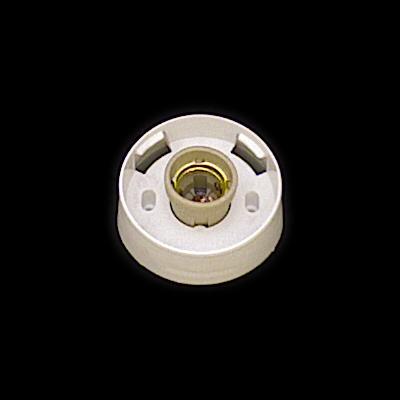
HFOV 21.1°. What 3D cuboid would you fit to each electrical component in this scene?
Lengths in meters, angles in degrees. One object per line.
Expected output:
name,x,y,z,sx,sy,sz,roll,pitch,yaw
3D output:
electrical component,0.000,0.000,0.625,0.099,0.099,0.064,0,-28,0
